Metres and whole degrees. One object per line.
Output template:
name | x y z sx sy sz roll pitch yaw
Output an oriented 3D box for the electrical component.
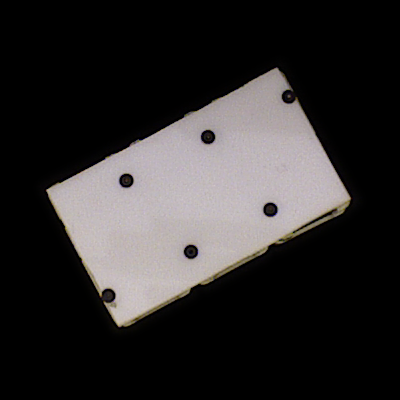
electrical component | 0.000 0.000 0.631 0.150 0.089 0.061 -28 -5 -3
